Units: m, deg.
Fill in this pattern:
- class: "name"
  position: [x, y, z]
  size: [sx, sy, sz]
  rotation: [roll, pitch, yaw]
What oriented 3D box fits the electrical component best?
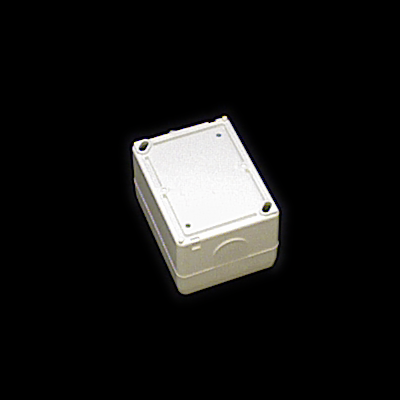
- class: "electrical component"
  position: [0.000, 0.000, 0.632]
  size: [0.062, 0.095, 0.061]
  rotation: [-18, -36, -13]
